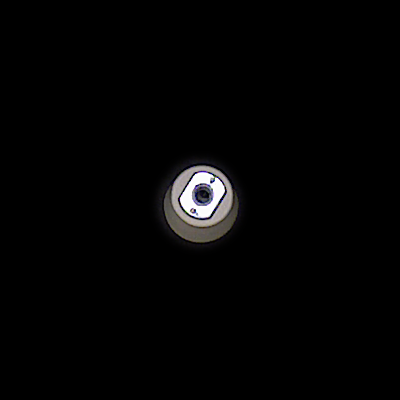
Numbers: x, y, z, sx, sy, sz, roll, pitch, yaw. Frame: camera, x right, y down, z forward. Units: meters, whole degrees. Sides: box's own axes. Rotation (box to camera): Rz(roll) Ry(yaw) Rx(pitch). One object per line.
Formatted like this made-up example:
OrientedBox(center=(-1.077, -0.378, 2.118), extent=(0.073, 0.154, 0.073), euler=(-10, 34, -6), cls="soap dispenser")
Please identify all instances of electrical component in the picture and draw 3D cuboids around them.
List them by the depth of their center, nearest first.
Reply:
OrientedBox(center=(0.000, 0.000, 0.625), extent=(0.044, 0.044, 0.065), euler=(0, -6, 0), cls="electrical component")
